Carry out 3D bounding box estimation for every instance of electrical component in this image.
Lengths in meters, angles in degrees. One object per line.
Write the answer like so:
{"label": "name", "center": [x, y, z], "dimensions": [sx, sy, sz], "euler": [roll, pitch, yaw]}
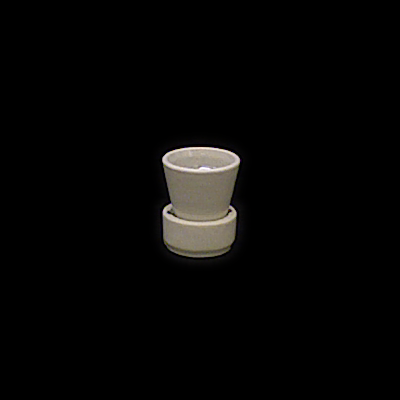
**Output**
{"label": "electrical component", "center": [0.000, 0.000, 0.639], "dimensions": [0.045, 0.056, 0.044], "euler": [1, 22, 0]}
